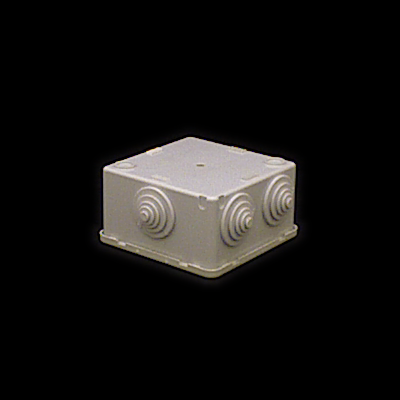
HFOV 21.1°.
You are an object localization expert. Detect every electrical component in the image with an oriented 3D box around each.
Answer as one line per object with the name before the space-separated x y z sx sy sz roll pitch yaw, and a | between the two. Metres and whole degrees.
electrical component | 0.000 0.000 0.640 0.099 0.049 0.099 16 26 35
